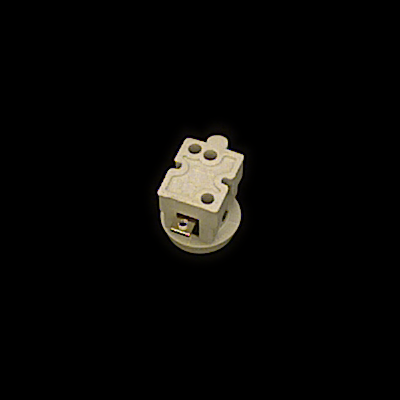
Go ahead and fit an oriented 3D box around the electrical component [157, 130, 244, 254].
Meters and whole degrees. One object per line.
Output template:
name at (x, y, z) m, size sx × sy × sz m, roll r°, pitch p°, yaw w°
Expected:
electrical component at (0.000, 0.000, 0.639) m, size 0.048 × 0.066 × 0.056 m, roll 19°, pitch -34°, yaw 12°
